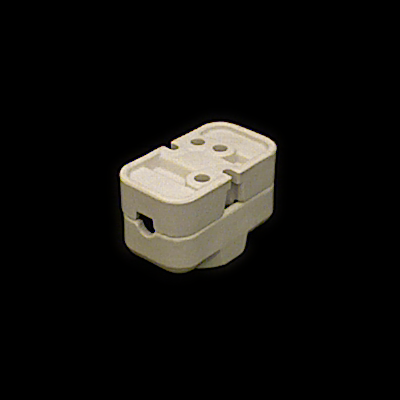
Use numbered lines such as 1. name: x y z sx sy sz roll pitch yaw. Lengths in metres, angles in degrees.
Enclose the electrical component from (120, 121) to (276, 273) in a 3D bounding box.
1. electrical component: 0.000 0.000 0.641 0.053 0.060 0.095 25 40 34
